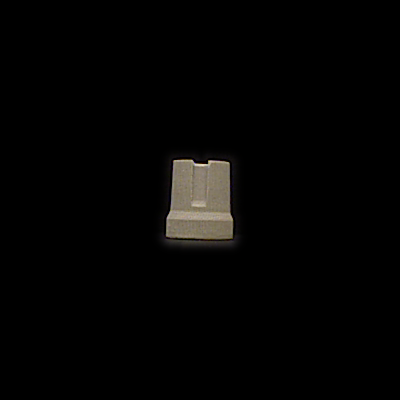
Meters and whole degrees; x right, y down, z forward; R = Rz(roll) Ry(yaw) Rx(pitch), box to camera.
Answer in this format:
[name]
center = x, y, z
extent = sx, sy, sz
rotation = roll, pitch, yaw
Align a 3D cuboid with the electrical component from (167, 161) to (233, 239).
[electrical component]
center = 0.000, 0.000, 0.651
extent = 0.040, 0.046, 0.040
rotation = 2, 2, 0
